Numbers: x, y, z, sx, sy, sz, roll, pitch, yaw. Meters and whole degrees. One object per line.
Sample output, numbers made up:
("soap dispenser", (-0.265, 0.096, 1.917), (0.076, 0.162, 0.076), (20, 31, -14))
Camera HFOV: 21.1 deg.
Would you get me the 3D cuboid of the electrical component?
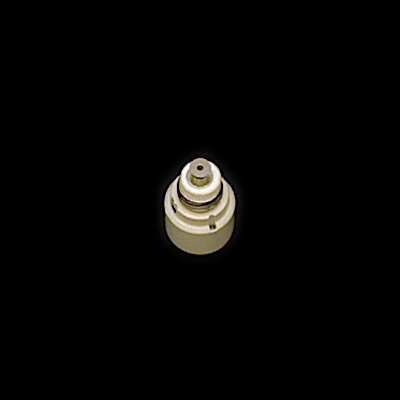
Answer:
("electrical component", (0.000, 0.000, 0.619), (0.040, 0.040, 0.078), (0, -27, -1))
